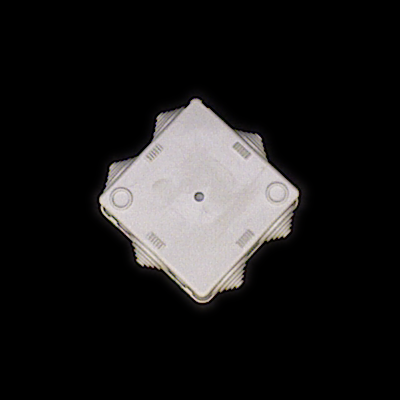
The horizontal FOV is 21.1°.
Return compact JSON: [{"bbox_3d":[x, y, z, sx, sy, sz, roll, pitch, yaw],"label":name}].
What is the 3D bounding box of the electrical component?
[{"bbox_3d":[0.000,0.000,0.633,0.100,0.100,0.048,43,-5,4],"label":"electrical component"}]
